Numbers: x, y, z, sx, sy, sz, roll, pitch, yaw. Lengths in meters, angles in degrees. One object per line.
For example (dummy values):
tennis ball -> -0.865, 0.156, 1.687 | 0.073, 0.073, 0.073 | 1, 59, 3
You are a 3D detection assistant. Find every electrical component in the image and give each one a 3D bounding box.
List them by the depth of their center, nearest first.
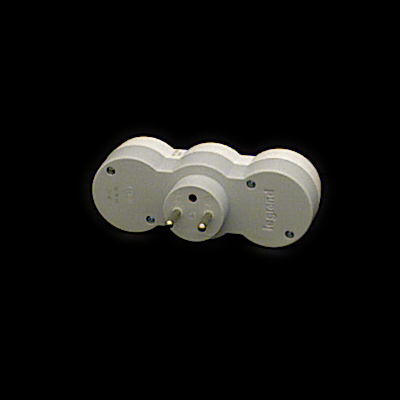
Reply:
electrical component -> 0.000, 0.000, 0.645 | 0.137, 0.053, 0.073 | 6, 24, 11
